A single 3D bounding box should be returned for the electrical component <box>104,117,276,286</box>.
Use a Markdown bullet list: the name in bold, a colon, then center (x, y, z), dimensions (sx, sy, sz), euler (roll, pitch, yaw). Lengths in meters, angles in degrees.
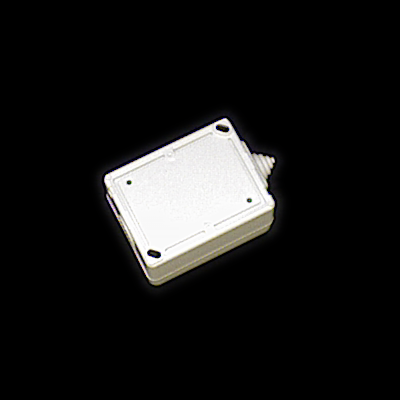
- **electrical component**: center (0.000, 0.000, 0.627), dimensions (0.096, 0.062, 0.061), euler (-26, -16, -8)
